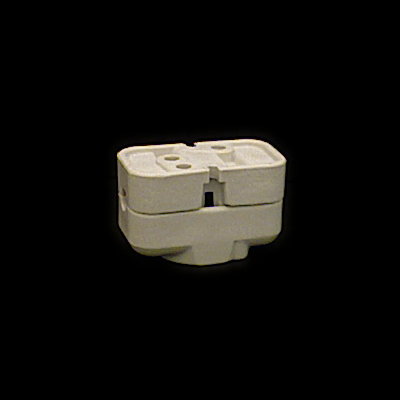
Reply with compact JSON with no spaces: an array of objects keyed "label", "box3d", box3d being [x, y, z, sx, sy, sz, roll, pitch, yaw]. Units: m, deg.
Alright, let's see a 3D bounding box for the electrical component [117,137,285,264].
[{"label":"electrical component","box3d":[0.000,0.000,0.644,0.095,0.060,0.053,-5,23,-17]}]
